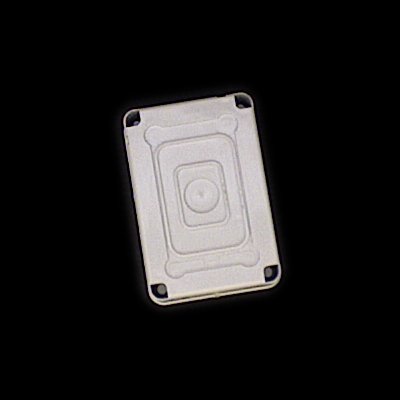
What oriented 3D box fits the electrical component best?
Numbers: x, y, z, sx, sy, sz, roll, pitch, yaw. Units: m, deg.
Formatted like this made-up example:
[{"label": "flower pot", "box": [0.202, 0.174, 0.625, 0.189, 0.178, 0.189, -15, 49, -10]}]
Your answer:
[{"label": "electrical component", "box": [0.000, 0.000, 0.628, 0.078, 0.113, 0.057, -9, -6, -1]}]
